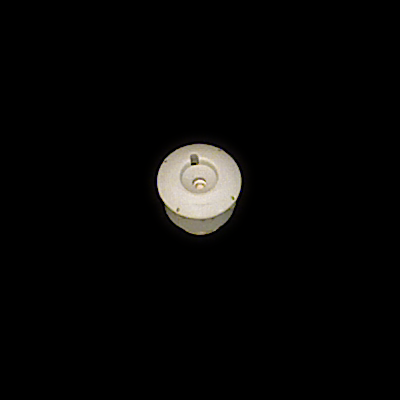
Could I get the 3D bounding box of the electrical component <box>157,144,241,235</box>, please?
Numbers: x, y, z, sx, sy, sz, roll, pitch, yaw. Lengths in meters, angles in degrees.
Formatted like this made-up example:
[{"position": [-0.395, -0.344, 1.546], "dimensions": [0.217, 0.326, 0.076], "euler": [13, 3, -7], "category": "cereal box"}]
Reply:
[{"position": [0.000, 0.000, 0.633], "dimensions": [0.048, 0.048, 0.062], "euler": [0, -27, 0], "category": "electrical component"}]
